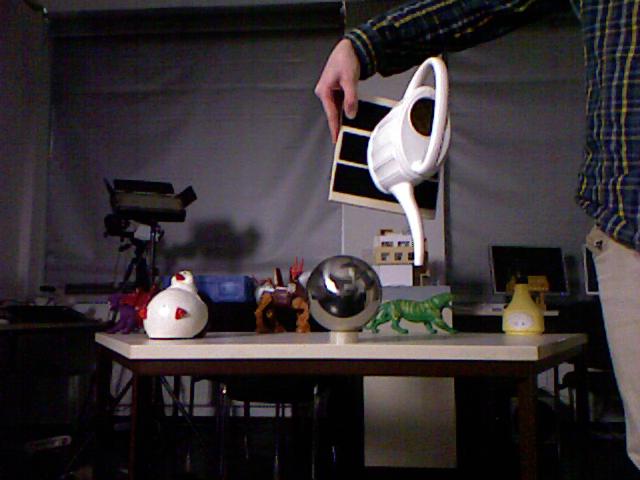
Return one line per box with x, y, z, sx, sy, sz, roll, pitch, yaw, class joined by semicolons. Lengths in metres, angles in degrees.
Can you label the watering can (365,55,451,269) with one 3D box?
0.145;-0.127;0.856;0.104;0.350;0.223;10;-7;-14;watering can
